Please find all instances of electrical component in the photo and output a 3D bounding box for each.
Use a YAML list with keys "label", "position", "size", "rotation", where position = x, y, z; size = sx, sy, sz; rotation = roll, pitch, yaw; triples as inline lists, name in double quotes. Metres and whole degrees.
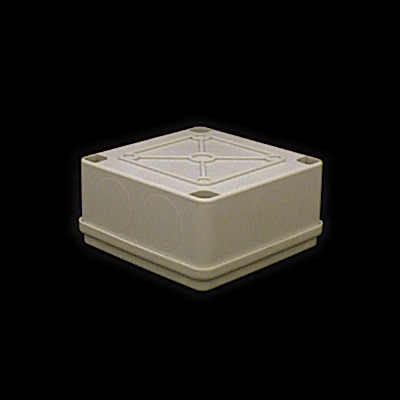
- label: "electrical component"
  position: [0.000, 0.000, 0.641]
  size: [0.107, 0.057, 0.108]
  rotation: [19, 27, 40]
